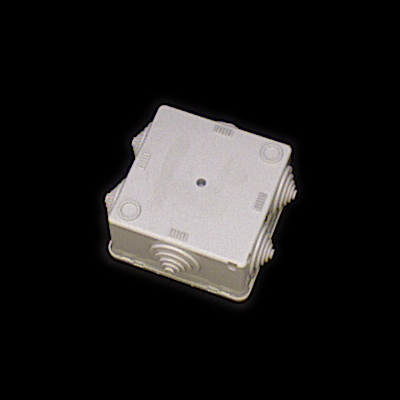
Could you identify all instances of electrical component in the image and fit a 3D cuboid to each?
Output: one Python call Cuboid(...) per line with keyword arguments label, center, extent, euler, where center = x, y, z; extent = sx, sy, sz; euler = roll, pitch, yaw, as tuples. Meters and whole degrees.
Cuboid(label="electrical component", center=(0.000, 0.000, 0.631), extent=(0.099, 0.100, 0.048), euler=(19, -25, 9))
